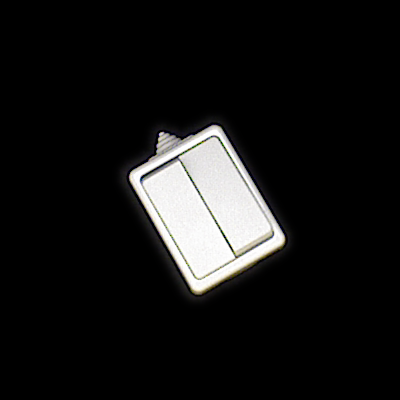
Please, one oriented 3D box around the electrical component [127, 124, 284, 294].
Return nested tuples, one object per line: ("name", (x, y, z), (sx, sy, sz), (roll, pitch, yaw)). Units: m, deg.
("electrical component", (0.000, 0.000, 0.627), (0.062, 0.096, 0.061), (-29, -6, -3))
